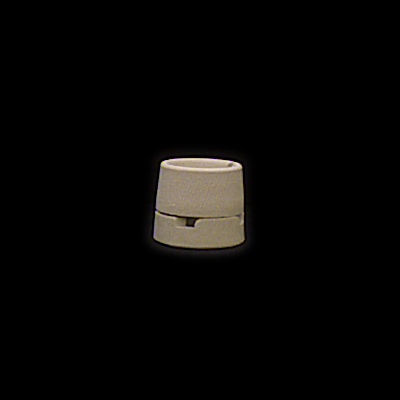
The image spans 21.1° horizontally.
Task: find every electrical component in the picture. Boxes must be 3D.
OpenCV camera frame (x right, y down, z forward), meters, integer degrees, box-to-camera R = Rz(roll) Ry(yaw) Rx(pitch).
[{"bbox_3d":[0.000,0.000,0.646,0.055,0.047,0.055,2,11,0],"label":"electrical component"}]
